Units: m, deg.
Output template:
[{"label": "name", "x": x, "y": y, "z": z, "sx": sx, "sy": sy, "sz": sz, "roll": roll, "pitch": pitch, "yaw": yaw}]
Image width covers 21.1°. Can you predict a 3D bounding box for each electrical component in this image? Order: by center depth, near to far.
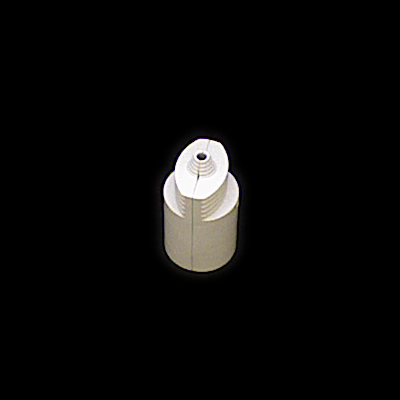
[{"label": "electrical component", "x": 0.000, "y": 0.000, "z": 0.619, "sx": 0.043, "sy": 0.043, "sz": 0.081, "roll": 0, "pitch": -38, "yaw": 0}]
